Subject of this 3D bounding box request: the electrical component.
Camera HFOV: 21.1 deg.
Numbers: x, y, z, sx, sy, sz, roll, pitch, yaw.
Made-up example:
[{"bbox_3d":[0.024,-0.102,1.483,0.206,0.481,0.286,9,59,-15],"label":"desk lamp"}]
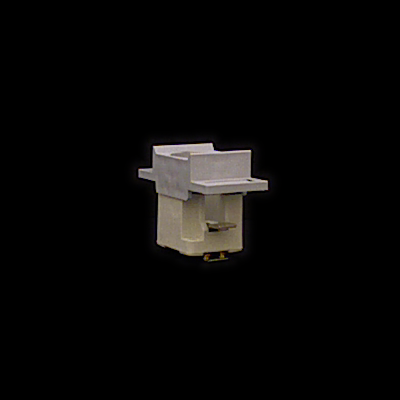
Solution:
[{"bbox_3d":[0.000,0.000,0.641,0.042,0.064,0.080,-4,11,-30],"label":"electrical component"}]
